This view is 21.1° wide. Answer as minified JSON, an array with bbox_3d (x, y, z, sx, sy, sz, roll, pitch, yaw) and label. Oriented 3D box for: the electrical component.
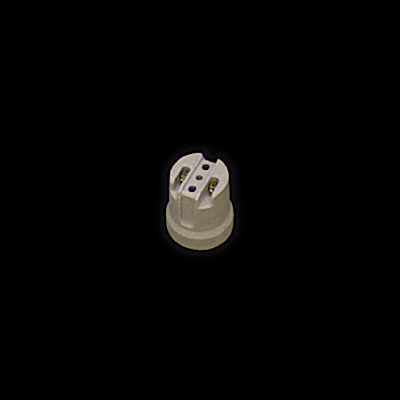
[{"bbox_3d":[0.000,0.000,0.633,0.040,0.040,0.046,0,-38,0],"label":"electrical component"}]
